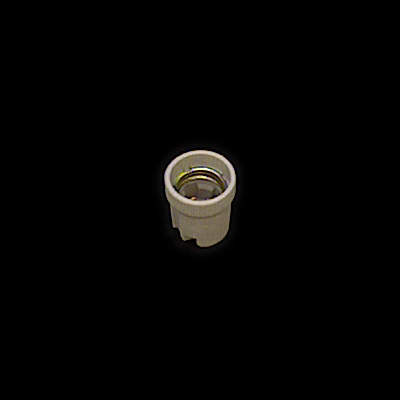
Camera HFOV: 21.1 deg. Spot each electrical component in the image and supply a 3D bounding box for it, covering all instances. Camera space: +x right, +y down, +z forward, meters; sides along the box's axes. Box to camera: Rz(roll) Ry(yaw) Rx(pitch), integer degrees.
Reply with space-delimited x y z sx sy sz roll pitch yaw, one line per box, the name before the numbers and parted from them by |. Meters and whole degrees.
electrical component | 0.000 0.000 0.630 0.040 0.040 0.046 0 -38 -1
